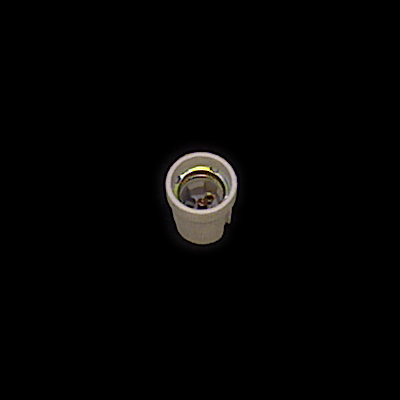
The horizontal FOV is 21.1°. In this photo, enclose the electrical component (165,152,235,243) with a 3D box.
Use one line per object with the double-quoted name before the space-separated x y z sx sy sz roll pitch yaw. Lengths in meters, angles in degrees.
"electrical component" 0.000 0.000 0.628 0.040 0.040 0.046 0 -28 0
